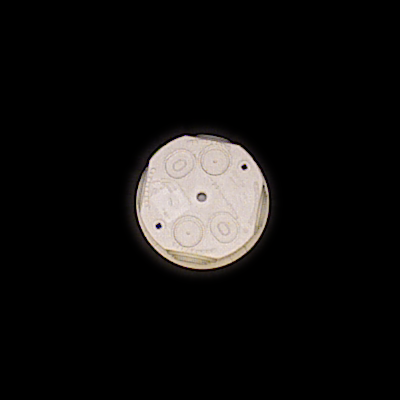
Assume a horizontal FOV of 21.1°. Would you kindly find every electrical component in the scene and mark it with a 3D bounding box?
[{"bbox_3d":[0.000,0.000,0.633,0.080,0.080,0.050,0,-6,1],"label":"electrical component"}]
